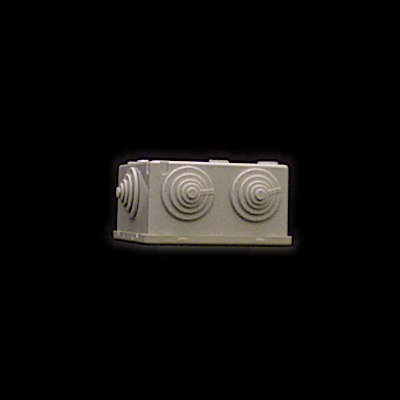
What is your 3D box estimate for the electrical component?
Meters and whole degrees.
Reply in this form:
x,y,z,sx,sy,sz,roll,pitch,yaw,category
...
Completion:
x,y,z,sx,sy,sz,roll,pitch,yaw,category
0.000,0.000,0.648,0.100,0.048,0.099,1,0,-18,electrical component
